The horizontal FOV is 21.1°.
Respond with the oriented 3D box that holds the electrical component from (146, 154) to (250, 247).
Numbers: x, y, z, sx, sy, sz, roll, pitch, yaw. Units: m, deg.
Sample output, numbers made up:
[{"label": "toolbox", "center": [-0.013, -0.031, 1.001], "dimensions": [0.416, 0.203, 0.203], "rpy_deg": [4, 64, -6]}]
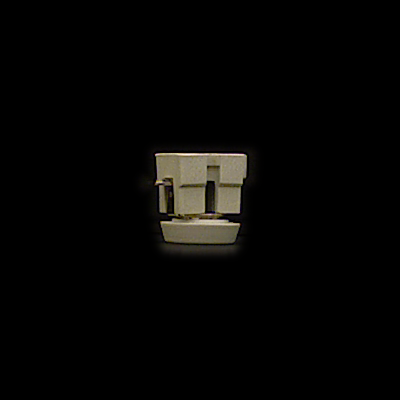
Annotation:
[{"label": "electrical component", "center": [0.000, 0.000, 0.658], "dimensions": [0.067, 0.055, 0.048], "rpy_deg": [-1, 4, -27]}]
